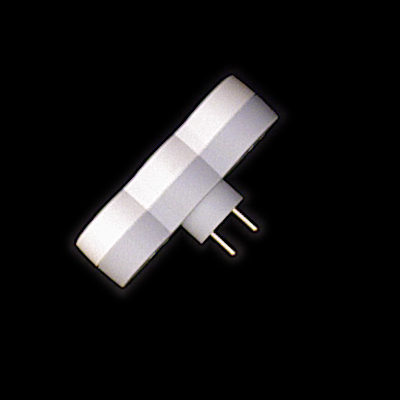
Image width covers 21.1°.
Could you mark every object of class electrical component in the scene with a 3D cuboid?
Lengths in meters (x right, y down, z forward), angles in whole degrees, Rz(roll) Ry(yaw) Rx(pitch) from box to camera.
[{"bbox_3d":[0.000,0.000,0.632,0.074,0.138,0.052,42,-6,2],"label":"electrical component"}]
